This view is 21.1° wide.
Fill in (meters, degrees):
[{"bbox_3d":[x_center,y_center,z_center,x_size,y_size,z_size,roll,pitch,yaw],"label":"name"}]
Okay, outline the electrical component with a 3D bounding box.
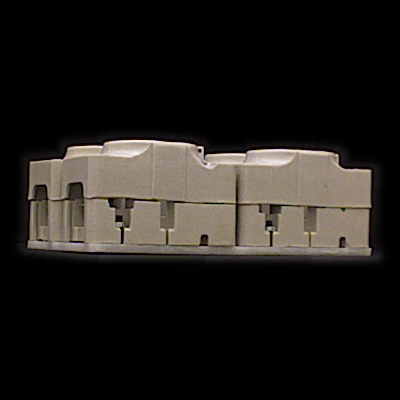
[{"bbox_3d":[0.000,0.000,0.651,0.187,0.060,0.105,2,-1,-28],"label":"electrical component"}]
